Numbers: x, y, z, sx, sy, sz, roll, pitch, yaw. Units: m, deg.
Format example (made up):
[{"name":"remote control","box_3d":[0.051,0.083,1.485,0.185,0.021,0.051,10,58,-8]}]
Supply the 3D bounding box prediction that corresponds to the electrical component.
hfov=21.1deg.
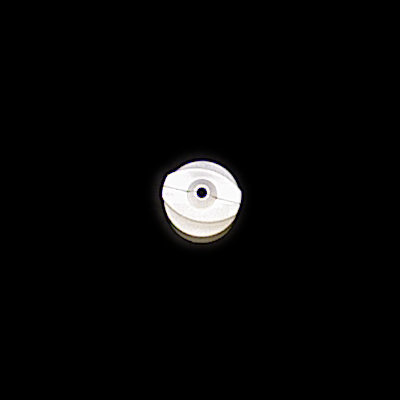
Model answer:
[{"name":"electrical component","box_3d":[0.000,0.000,0.616,0.043,0.043,0.080,0,-6,1]}]
